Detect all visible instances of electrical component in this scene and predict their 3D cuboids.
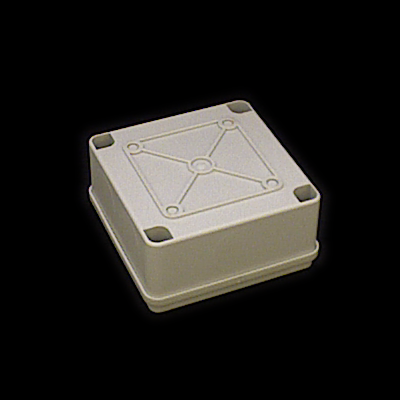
[{"bbox_3d":[0.000,0.000,0.634,0.109,0.057,0.107,-15,44,-18],"label":"electrical component"}]
